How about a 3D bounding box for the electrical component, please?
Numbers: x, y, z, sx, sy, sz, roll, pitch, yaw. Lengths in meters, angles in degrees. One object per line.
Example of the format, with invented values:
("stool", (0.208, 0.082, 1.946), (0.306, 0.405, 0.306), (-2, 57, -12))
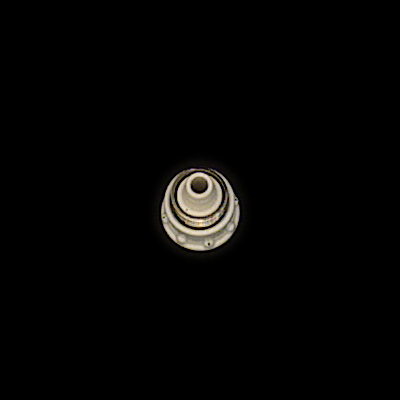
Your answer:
("electrical component", (0.000, 0.000, 0.634), (0.048, 0.048, 0.061), (0, -17, 0))
